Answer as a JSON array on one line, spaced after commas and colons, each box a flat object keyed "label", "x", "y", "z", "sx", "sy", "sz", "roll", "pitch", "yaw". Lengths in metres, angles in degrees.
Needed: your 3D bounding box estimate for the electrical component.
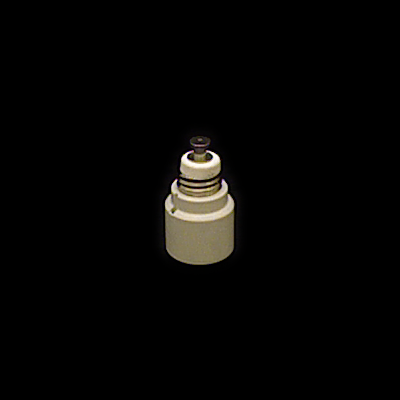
[{"label": "electrical component", "x": 0.000, "y": 0.000, "z": 0.630, "sx": 0.040, "sy": 0.079, "sz": 0.039, "roll": 0, "pitch": 32, "yaw": 0}]
